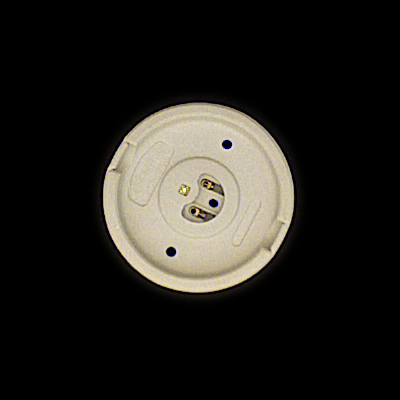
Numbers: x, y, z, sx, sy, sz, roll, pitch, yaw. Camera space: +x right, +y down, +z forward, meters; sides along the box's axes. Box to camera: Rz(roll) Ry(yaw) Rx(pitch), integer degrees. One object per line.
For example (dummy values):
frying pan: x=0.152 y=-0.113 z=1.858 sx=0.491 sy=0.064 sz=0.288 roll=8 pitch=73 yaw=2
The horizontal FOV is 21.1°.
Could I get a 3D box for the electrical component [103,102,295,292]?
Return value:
electrical component: x=0.000 y=0.000 z=0.635 sx=0.108 sy=0.108 sz=0.060 roll=0 pitch=-6 yaw=0
